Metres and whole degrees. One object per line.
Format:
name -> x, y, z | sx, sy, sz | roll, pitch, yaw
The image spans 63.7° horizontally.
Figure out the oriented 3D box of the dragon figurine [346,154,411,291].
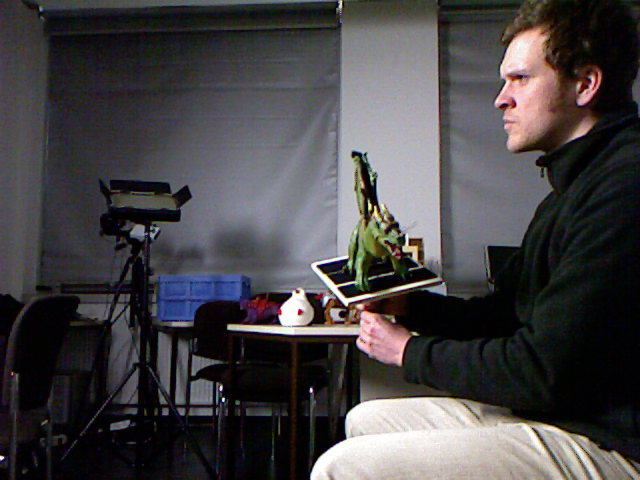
dragon figurine -> 0.096, -0.057, 1.025 | 0.123, 0.239, 0.419 | -10, 27, -6
